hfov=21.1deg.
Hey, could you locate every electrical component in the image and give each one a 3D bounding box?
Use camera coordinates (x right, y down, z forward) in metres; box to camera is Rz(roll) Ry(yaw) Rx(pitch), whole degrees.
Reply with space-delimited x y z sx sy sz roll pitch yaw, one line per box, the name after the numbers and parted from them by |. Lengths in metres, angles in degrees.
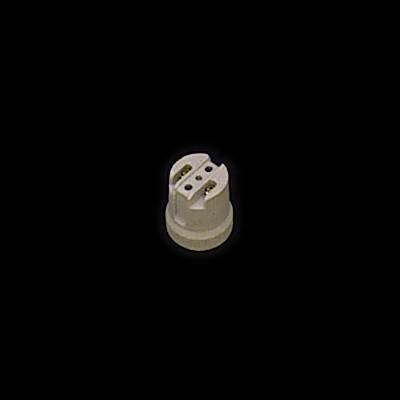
0.000 0.000 0.634 0.040 0.040 0.046 0 -38 0 | electrical component
